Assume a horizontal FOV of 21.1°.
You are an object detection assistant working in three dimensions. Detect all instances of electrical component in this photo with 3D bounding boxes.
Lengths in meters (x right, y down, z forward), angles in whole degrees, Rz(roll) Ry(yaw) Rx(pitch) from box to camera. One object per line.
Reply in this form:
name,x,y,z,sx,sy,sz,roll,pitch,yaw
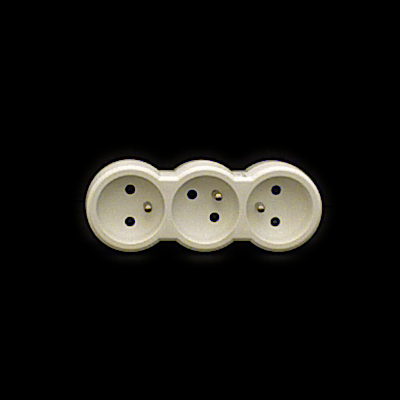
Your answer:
electrical component,0.000,0.000,0.655,0.138,0.052,0.073,0,10,-5
